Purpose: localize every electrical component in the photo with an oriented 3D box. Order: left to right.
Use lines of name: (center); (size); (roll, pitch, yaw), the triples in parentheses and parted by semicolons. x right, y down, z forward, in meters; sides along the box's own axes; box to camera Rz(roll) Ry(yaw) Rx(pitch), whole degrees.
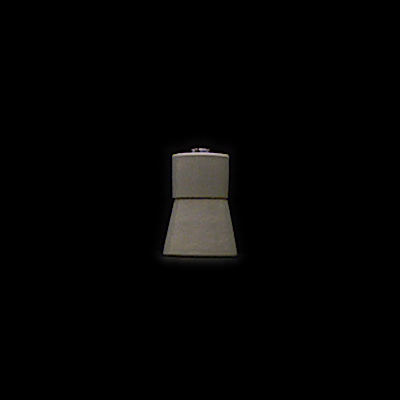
electrical component: (0.000, 0.000, 0.651); (0.044, 0.065, 0.044); (0, 1, 0)
